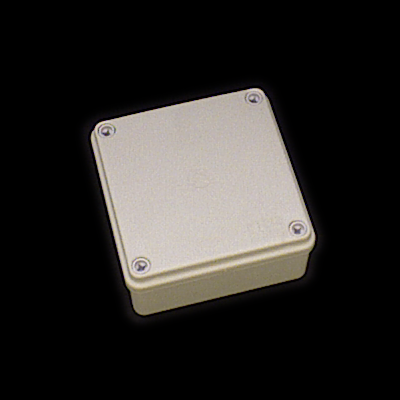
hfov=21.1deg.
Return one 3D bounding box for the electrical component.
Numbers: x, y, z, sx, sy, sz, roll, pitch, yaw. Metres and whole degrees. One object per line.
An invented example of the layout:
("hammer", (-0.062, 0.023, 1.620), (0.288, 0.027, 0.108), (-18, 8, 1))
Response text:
("electrical component", (0.000, 0.000, 0.630), (0.109, 0.108, 0.056), (-13, -27, -7))
